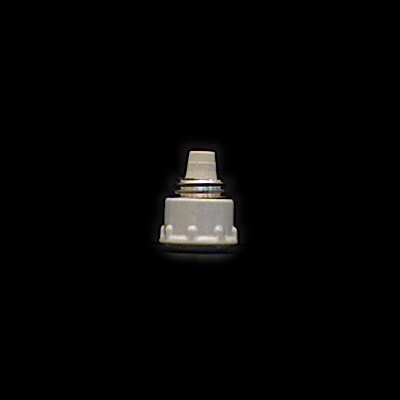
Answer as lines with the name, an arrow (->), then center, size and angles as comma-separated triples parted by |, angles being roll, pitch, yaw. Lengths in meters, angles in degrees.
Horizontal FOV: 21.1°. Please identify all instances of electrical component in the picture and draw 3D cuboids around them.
electrical component -> 0.000, 0.000, 0.657 | 0.048, 0.062, 0.048 | 2, 2, 0
